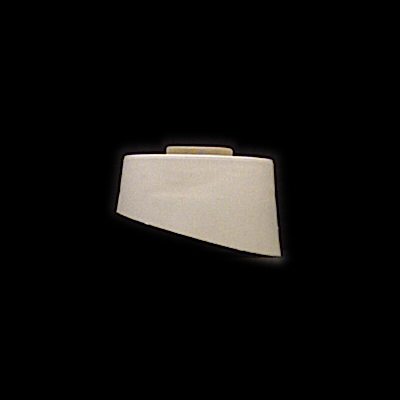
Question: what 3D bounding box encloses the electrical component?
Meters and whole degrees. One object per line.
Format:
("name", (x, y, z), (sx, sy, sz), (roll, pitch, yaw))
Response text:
("electrical component", (0.000, 0.000, 0.649), (0.099, 0.064, 0.099), (2, 0, 0))
